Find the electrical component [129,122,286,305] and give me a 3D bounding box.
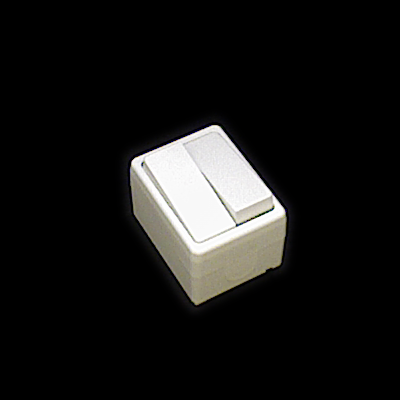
[{"bbox_3d":[0.000,0.000,0.629,0.062,0.096,0.061,-24,-34,-18],"label":"electrical component"}]
